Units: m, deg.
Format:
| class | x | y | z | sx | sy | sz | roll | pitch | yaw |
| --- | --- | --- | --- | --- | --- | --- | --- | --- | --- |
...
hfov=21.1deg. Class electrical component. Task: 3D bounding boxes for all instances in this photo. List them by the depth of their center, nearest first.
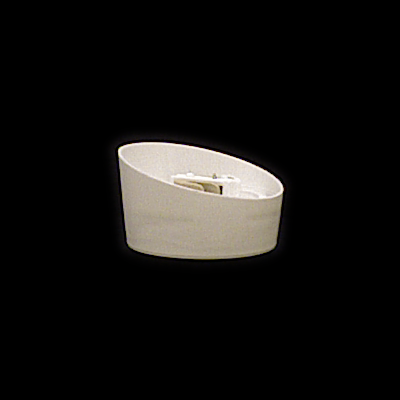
| class | x | y | z | sx | sy | sz | roll | pitch | yaw |
| --- | --- | --- | --- | --- | --- | --- | --- | --- | --- |
| electrical component | 0.000 | 0.000 | 0.643 | 0.099 | 0.064 | 0.098 | 0 | 10 | 0 |
